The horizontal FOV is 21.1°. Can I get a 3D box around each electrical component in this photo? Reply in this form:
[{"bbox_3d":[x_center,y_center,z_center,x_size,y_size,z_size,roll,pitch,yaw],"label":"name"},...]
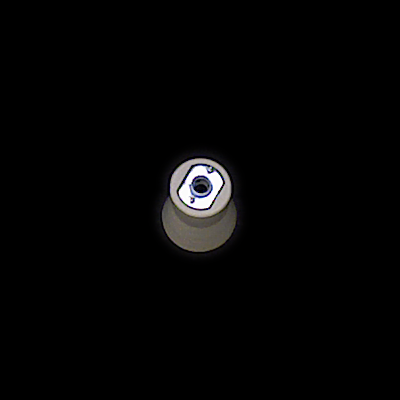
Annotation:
[{"bbox_3d":[0.000,0.000,0.624,0.044,0.044,0.065,0,-16,-1],"label":"electrical component"}]
